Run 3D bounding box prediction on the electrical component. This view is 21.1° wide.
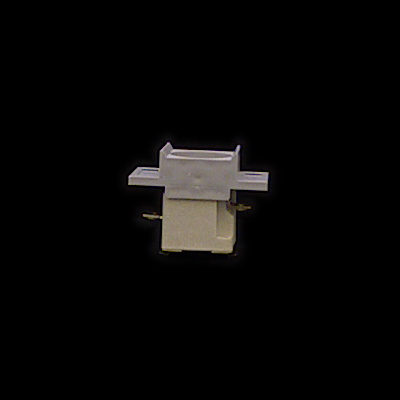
[{"bbox_3d":[0.000,0.000,0.643,0.081,0.064,0.042,2,12,4],"label":"electrical component"}]
